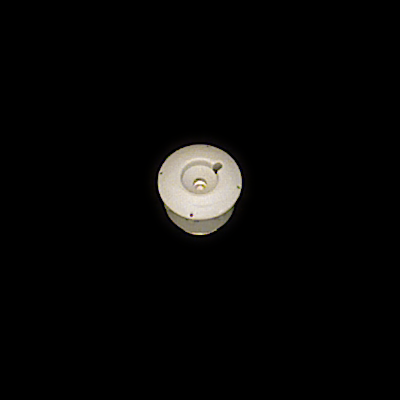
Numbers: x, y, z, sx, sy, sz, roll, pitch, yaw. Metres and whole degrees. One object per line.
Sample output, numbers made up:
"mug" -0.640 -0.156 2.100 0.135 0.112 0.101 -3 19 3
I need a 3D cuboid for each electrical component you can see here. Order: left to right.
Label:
"electrical component" 0.000 0.000 0.634 0.048 0.048 0.062 0 -27 0
